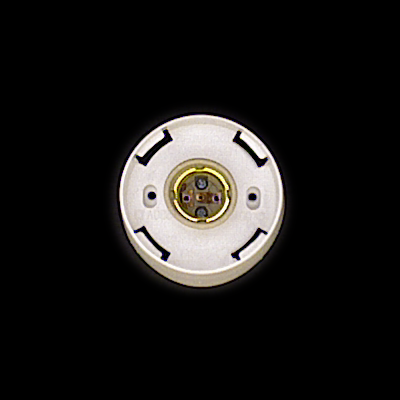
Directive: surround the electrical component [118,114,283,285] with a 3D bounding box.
[{"bbox_3d":[0.000,0.000,0.626,0.099,0.099,0.064,0,-6,0],"label":"electrical component"}]
